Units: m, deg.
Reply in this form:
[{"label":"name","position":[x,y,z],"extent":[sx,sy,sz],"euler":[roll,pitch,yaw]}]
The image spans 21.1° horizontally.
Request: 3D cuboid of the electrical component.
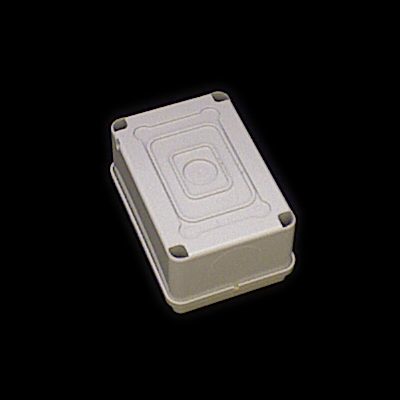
[{"label":"electrical component","position":[0.000,0.000,0.629],"extent":[0.078,0.112,0.057],"euler":[-17,-35,-13]}]
